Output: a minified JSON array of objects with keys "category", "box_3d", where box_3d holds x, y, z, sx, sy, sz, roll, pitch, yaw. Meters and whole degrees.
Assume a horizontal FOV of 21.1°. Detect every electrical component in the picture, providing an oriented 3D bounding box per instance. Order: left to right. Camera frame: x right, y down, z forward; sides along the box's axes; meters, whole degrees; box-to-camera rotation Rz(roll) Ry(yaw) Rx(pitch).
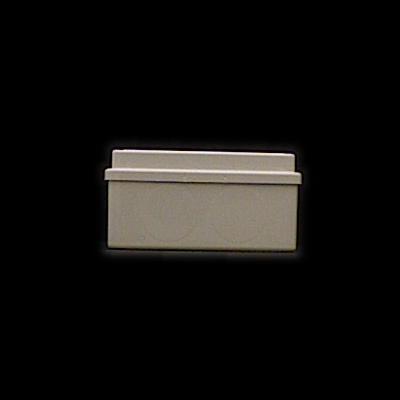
[{"category":"electrical component","box_3d":[0.000,0.000,0.651,0.113,0.057,0.078,1,0,-5]}]
